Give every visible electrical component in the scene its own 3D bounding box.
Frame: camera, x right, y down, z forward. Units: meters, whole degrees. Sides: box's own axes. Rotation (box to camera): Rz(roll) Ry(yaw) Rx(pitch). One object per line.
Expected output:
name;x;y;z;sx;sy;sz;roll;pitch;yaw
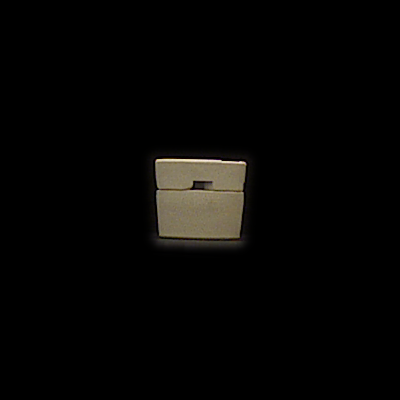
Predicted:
electrical component;0.000;0.000;0.650;0.055;0.047;0.055;1;1;0
